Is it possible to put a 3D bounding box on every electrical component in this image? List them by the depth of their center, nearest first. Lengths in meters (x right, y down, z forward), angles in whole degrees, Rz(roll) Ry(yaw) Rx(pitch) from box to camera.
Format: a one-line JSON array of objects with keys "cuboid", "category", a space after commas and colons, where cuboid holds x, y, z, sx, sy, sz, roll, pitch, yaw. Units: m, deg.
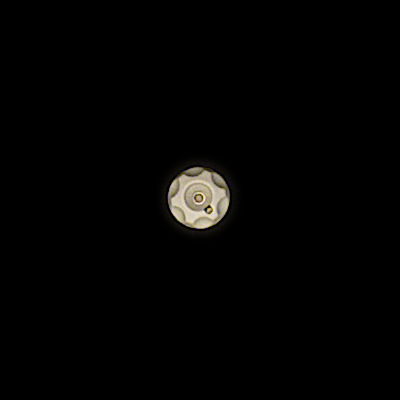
[{"cuboid": [0.000, 0.000, 0.634, 0.035, 0.035, 0.061, 0, -5, 1], "category": "electrical component"}]
